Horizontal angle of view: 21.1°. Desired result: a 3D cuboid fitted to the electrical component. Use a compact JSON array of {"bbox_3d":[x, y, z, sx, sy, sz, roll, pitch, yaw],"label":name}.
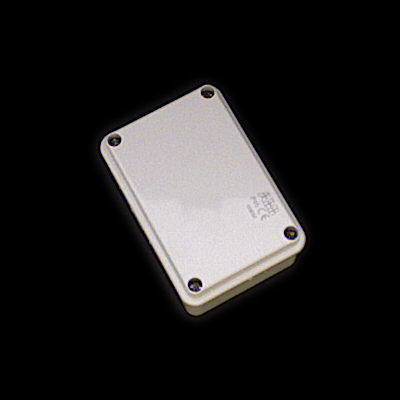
[{"bbox_3d":[0.000,0.000,0.627,0.078,0.113,0.057,-28,-15,-8],"label":"electrical component"}]
